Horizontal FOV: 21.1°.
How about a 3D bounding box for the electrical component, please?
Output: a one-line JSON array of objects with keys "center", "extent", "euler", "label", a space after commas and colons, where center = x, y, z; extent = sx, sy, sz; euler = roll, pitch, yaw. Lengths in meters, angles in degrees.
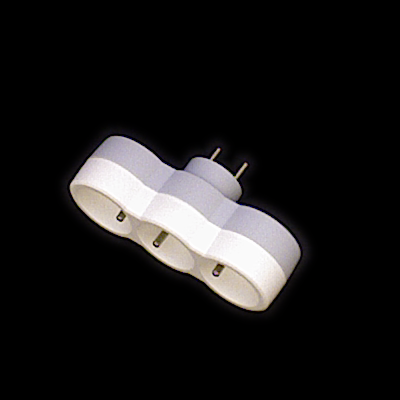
[{"center": [0.000, 0.000, 0.631], "extent": [0.138, 0.074, 0.052], "euler": [29, -25, 14], "label": "electrical component"}]
